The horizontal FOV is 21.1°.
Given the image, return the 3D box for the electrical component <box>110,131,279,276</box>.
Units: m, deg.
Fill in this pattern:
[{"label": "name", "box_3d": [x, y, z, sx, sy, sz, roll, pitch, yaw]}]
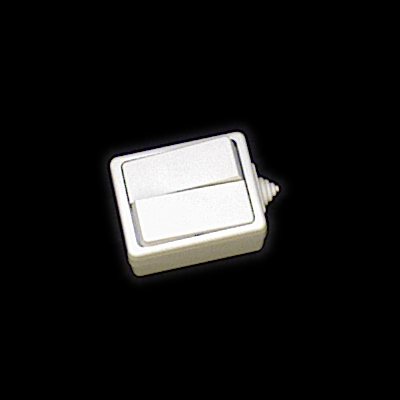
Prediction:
[{"label": "electrical component", "box_3d": [0.000, 0.000, 0.626, 0.096, 0.062, 0.060, -12, -17, -4]}]
